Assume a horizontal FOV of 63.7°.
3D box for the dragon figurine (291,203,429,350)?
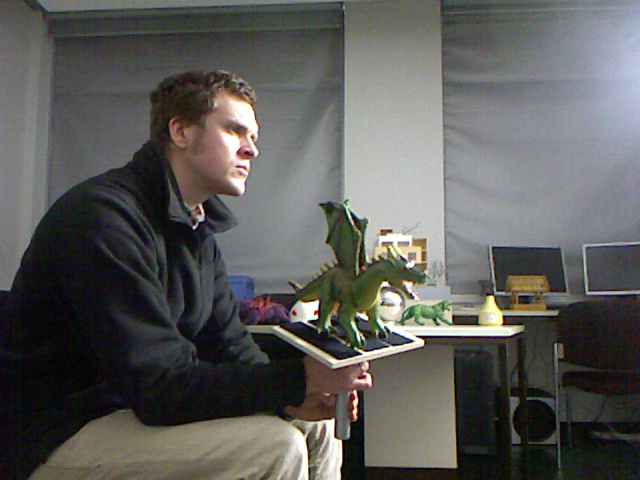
[{"bbox_3d":[0.038,0.050,0.942,0.123,0.241,0.414,-9,15,-33],"label":"dragon figurine"}]
